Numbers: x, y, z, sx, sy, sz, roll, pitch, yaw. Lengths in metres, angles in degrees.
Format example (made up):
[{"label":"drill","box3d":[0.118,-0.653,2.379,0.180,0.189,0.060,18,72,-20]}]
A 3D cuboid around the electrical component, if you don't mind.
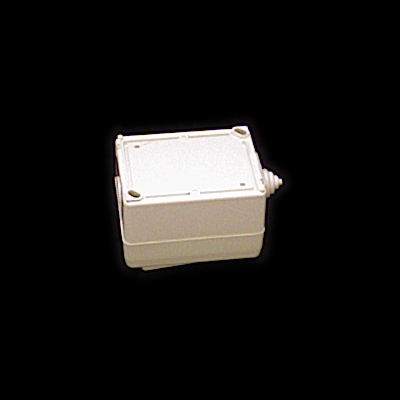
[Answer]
[{"label":"electrical component","box3d":[0.000,0.000,0.630,0.096,0.061,0.061,-4,42,-7]}]
